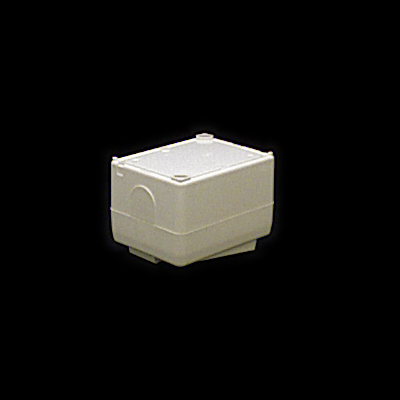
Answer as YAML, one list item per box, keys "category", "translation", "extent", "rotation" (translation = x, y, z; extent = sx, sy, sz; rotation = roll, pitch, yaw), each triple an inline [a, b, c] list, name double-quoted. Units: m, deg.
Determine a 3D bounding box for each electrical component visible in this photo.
- category: "electrical component"
  translation: [0.000, 0.000, 0.645]
  extent: [0.095, 0.062, 0.061]
  rotation: [-19, 28, -42]
